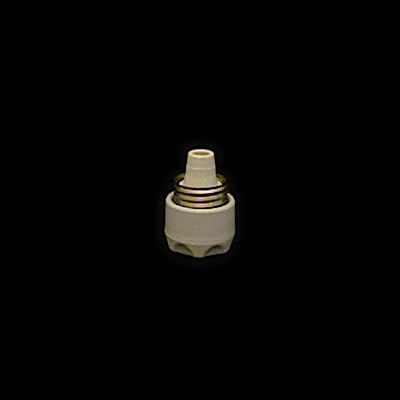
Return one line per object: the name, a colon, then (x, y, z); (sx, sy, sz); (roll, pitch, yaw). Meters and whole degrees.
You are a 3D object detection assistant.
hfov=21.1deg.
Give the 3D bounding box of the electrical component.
electrical component: (0.000, 0.000, 0.647); (0.043, 0.063, 0.043); (1, 21, 0)
